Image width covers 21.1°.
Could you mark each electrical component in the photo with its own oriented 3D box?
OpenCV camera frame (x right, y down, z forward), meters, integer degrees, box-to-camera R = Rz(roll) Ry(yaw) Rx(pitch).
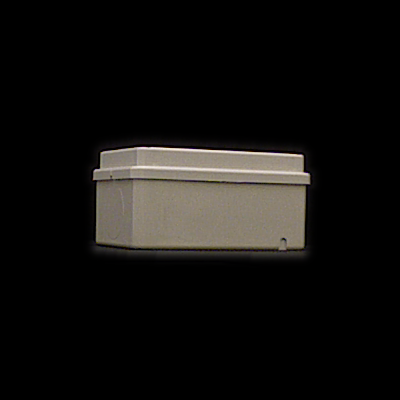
[{"bbox_3d":[0.000,0.000,0.647,0.113,0.057,0.078,2,0,-25],"label":"electrical component"}]
